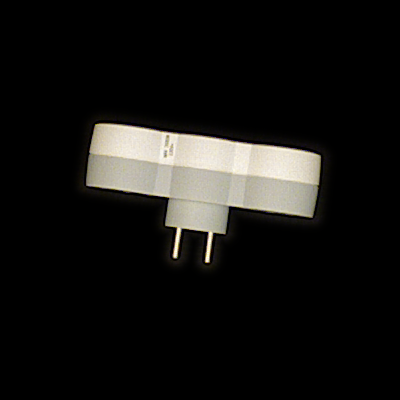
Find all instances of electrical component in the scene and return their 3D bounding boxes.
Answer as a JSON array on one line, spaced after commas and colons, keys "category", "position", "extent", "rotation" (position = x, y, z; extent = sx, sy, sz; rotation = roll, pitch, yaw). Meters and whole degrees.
[{"category": "electrical component", "position": [0.000, 0.000, 0.639], "extent": [0.138, 0.074, 0.052], "rotation": [8, -4, 1]}]
